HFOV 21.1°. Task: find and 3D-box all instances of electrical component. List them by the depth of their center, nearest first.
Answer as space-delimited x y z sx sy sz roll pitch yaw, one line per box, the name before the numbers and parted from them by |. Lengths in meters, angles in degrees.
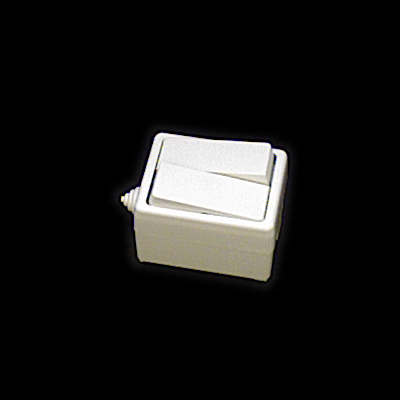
electrical component | 0.000 0.000 0.628 0.096 0.061 0.061 9 -38 6
